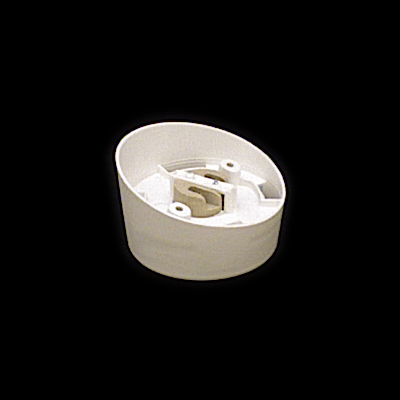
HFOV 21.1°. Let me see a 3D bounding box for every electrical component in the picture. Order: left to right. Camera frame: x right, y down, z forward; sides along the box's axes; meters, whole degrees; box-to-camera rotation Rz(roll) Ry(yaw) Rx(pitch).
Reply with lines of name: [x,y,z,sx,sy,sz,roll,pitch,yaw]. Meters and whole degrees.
electrical component: [0.000,0.000,0.632,0.099,0.065,0.097,0,31,0]
